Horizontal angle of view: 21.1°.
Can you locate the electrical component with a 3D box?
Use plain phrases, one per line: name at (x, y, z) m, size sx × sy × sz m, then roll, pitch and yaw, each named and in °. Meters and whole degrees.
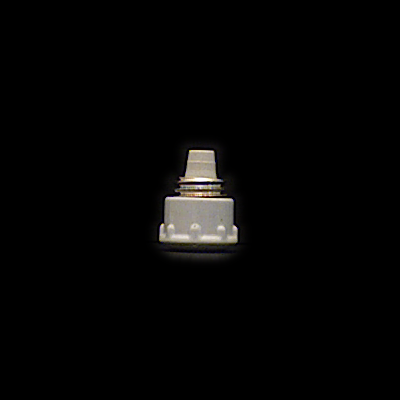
electrical component at (0.000, 0.000, 0.656) m, size 0.048 × 0.062 × 0.048 m, roll 2°, pitch 2°, yaw 0°
